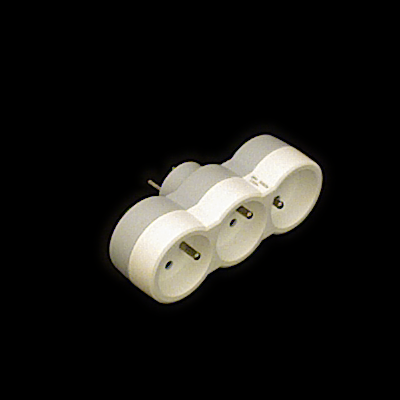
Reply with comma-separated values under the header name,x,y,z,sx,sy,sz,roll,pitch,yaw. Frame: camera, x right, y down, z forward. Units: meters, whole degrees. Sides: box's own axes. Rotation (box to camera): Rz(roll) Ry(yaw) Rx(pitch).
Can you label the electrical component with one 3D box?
name,x,y,z,sx,sy,sz,roll,pitch,yaw
electrical component,0.000,0.000,0.643,0.139,0.053,0.072,-30,49,-30
